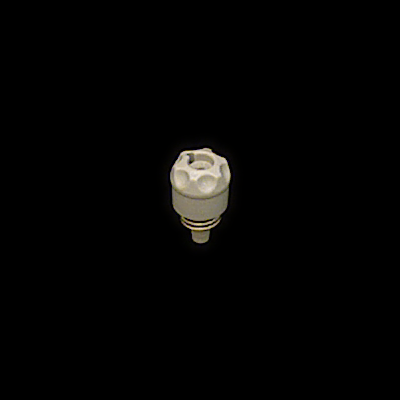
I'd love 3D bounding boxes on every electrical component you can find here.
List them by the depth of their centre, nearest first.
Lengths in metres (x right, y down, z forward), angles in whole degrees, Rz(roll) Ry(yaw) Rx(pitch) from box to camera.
[{"bbox_3d":[0.000,0.000,0.639,0.035,0.062,0.035,1,42,0],"label":"electrical component"}]
